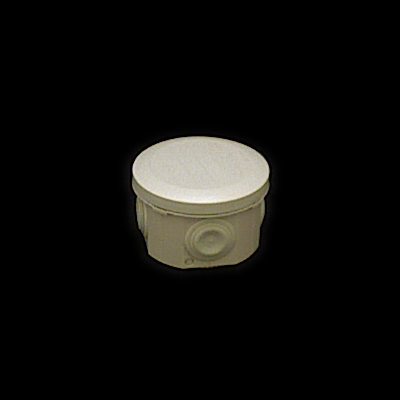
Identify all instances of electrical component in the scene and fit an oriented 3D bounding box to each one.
[{"bbox_3d":[0.000,0.000,0.634,0.080,0.051,0.079,1,31,0],"label":"electrical component"}]
